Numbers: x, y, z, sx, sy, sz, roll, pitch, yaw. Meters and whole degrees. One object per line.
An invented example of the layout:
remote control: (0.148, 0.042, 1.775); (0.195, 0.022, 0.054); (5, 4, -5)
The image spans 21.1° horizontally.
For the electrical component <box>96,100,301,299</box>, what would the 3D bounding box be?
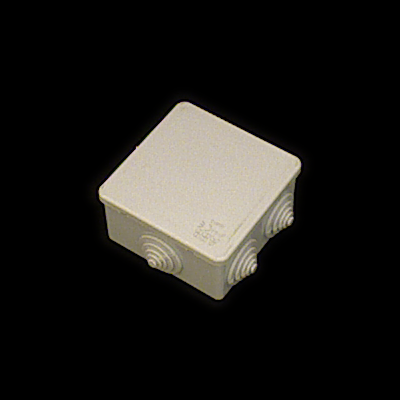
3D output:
electrical component: (0.000, 0.000, 0.639); (0.099, 0.100, 0.048); (29, -32, 19)
